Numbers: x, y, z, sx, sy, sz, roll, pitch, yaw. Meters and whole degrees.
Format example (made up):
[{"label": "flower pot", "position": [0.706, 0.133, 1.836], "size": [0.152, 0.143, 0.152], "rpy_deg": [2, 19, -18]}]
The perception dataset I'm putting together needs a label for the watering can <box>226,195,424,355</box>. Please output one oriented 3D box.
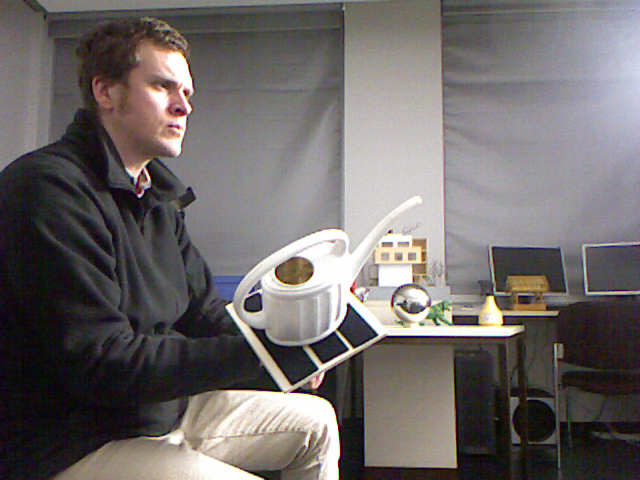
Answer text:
[{"label": "watering can", "position": [0.018, 0.060, 0.826], "size": [0.351, 0.219, 0.106], "rpy_deg": [-24, 51, -20]}]
